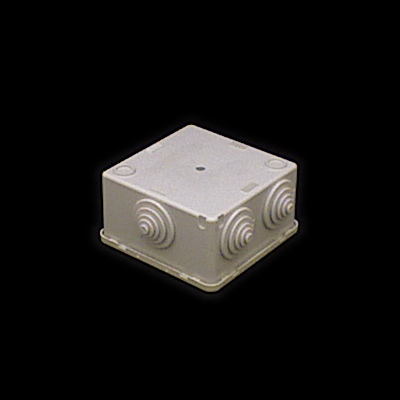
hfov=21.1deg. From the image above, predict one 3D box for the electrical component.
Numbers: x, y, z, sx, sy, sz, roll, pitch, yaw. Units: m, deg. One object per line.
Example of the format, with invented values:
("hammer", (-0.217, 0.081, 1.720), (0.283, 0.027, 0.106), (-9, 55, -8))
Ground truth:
("electrical component", (0.000, 0.000, 0.636), (0.099, 0.049, 0.099), (23, 38, 32))
